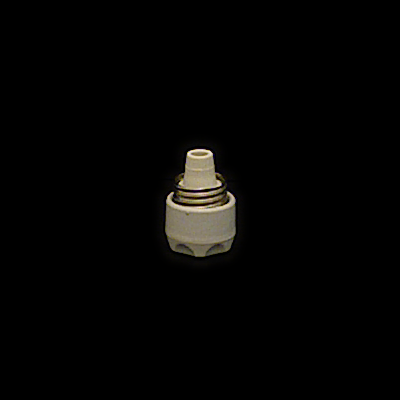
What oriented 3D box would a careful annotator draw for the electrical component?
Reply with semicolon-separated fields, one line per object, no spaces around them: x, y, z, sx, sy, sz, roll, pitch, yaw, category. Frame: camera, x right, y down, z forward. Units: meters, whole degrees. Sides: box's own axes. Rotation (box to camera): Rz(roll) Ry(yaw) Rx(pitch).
0.000;0.000;0.646;0.043;0.063;0.043;0;22;1;electrical component
